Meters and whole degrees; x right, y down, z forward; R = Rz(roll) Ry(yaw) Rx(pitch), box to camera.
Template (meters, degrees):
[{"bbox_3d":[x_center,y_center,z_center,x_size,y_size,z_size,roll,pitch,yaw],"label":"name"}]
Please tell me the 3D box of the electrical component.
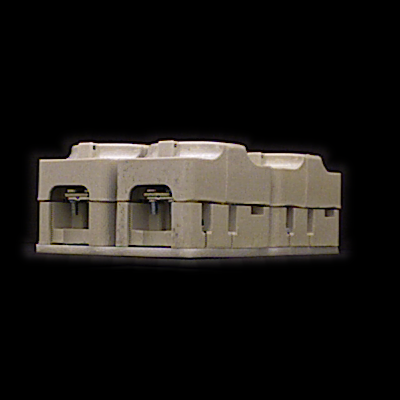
[{"bbox_3d":[0.000,0.000,0.649,0.105,0.060,0.186,1,0,32],"label":"electrical component"}]
